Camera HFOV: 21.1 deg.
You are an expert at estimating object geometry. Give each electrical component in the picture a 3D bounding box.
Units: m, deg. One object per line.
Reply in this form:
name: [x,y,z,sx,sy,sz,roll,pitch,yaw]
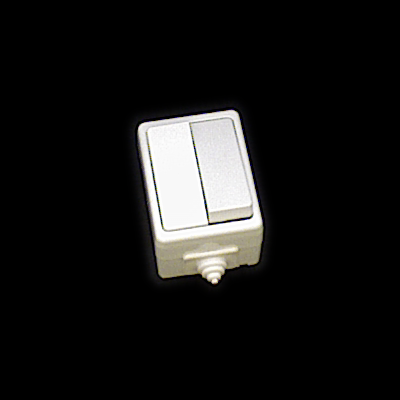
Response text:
electrical component: [0.000,0.000,0.625,0.062,0.096,0.060,-8,-28,-4]
